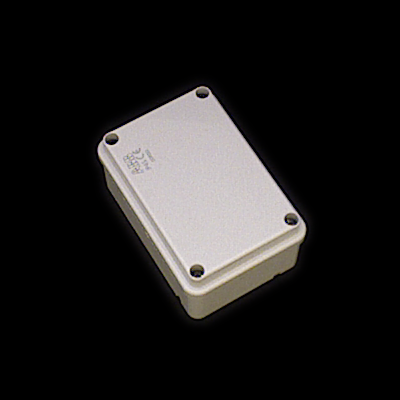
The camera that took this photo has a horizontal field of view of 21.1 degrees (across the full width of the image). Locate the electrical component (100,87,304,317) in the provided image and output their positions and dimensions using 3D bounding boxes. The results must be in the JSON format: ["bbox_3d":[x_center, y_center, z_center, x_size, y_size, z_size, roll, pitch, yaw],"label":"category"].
[{"bbox_3d":[0.000,0.000,0.626,0.078,0.113,0.057,-28,-23,-14],"label":"electrical component"}]
